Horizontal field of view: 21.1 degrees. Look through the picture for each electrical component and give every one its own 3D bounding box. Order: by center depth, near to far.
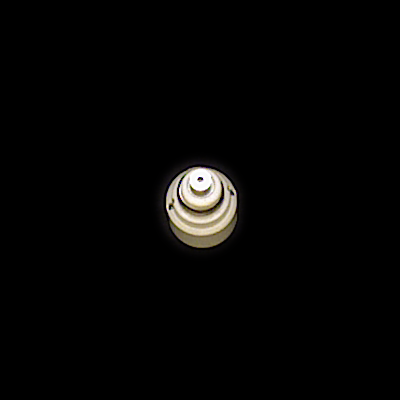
[{"bbox_3d":[0.000,0.000,0.617,0.040,0.040,0.078,0,-16,1],"label":"electrical component"}]
